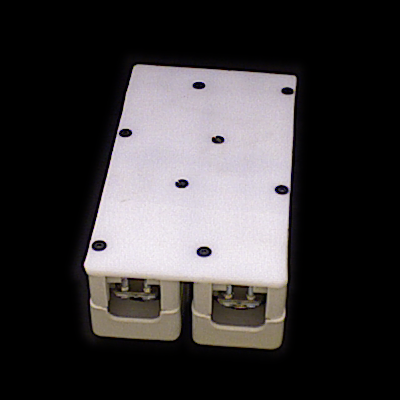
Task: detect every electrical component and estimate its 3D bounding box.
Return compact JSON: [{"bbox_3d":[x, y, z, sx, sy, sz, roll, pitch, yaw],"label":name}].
[{"bbox_3d":[0.000,0.000,0.630,0.105,0.061,0.184,4,42,4],"label":"electrical component"}]
